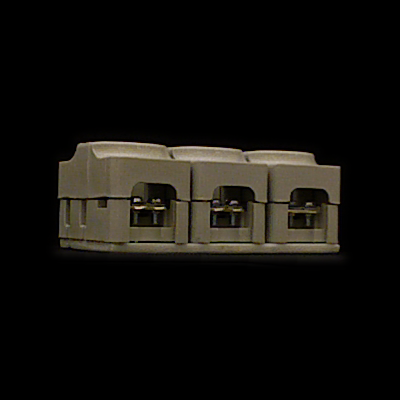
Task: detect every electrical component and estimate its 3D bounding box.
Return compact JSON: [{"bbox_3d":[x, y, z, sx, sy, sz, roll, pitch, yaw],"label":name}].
[{"bbox_3d":[0.000,0.000,0.658,0.151,0.062,0.089,2,-1,-28],"label":"electrical component"}]
